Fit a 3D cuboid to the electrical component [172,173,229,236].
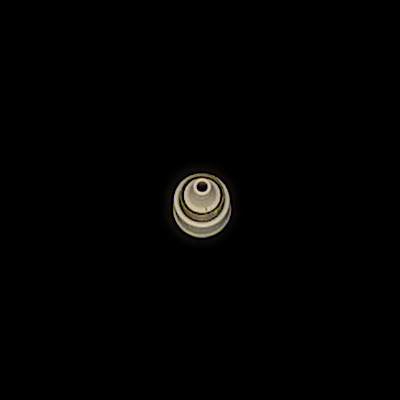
[{"bbox_3d":[0.000,0.000,0.637,0.035,0.035,0.061,0,-15,0],"label":"electrical component"}]
